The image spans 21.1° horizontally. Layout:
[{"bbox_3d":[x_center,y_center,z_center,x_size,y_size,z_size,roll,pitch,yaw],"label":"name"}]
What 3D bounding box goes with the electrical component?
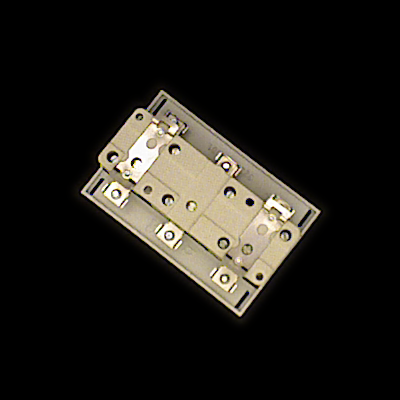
[{"bbox_3d":[0.000,0.000,0.635,0.121,0.079,0.063,37,-5,4],"label":"electrical component"}]
